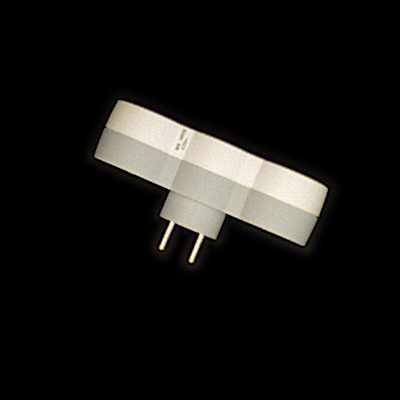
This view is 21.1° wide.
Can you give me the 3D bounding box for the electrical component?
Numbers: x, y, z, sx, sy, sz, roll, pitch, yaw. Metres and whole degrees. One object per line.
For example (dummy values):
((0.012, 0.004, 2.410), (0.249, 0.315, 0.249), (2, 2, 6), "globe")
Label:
((0.000, 0.000, 0.639), (0.138, 0.074, 0.052), (23, -4, 2), "electrical component")
